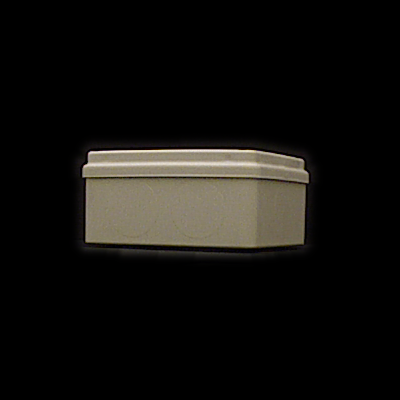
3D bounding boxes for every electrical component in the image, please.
[{"bbox_3d":[0.000,0.000,0.649,0.108,0.056,0.109,1,0,21],"label":"electrical component"}]
